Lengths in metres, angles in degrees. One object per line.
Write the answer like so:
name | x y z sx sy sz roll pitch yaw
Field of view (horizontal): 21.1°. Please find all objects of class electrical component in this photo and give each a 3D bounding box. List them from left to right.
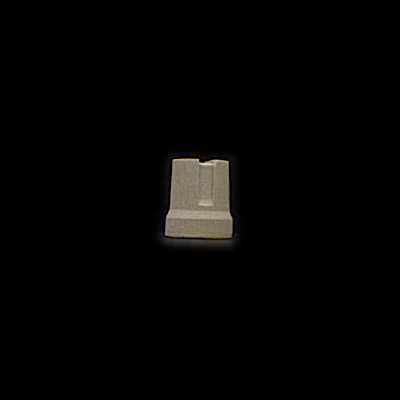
electrical component | 0.000 0.000 0.651 0.040 0.046 0.040 2 1 0
